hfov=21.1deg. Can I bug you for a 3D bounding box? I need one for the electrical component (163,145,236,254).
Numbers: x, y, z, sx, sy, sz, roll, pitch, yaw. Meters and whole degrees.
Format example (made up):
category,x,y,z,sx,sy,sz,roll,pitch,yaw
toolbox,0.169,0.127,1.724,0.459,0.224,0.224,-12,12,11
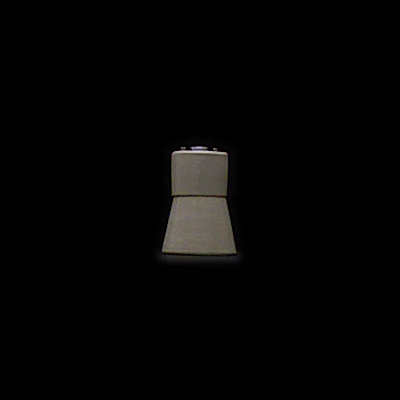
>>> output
category,x,y,z,sx,sy,sz,roll,pitch,yaw
electrical component,0.000,0.000,0.652,0.044,0.065,0.044,1,0,0
